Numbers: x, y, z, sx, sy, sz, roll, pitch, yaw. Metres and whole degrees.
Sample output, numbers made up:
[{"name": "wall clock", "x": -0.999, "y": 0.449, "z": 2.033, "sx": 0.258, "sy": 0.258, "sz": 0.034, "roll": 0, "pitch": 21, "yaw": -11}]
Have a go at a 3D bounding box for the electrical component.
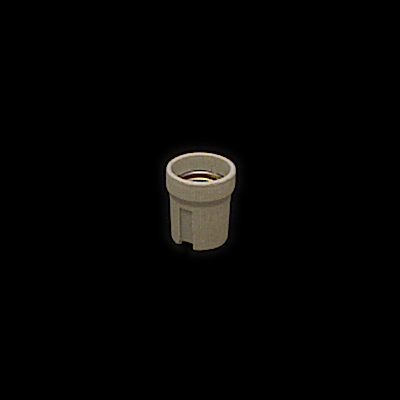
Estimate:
[{"name": "electrical component", "x": 0.000, "y": 0.000, "z": 0.638, "sx": 0.040, "sy": 0.047, "sz": 0.039, "roll": 1, "pitch": 31, "yaw": 0}]
